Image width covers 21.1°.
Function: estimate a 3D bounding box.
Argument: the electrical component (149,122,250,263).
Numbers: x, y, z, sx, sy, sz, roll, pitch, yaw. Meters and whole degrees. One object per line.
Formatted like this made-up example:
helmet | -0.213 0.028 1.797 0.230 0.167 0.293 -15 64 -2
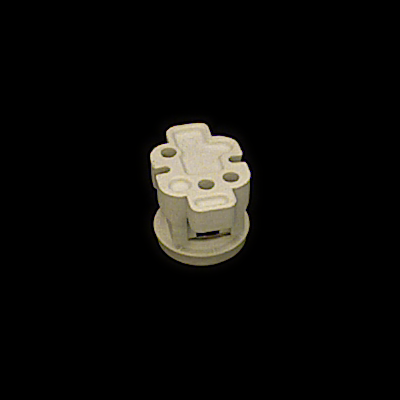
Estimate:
electrical component | 0.000 0.000 0.640 0.058 0.057 0.077 -10 42 -10
